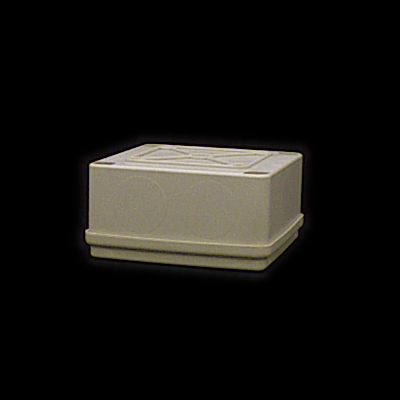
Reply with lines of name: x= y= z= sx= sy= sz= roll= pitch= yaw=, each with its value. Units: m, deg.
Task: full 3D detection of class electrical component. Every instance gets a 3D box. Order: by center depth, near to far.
electrical component: x=0.000 y=0.000 z=0.643 sx=0.108 sy=0.056 sz=0.108 roll=4 pitch=11 yaw=15
